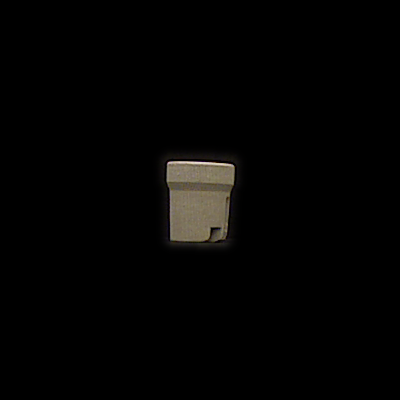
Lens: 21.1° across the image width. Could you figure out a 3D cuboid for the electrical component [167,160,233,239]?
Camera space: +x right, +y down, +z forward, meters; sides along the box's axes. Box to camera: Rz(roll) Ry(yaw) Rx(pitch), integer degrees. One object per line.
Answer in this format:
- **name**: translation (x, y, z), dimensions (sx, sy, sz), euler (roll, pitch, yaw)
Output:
- **electrical component**: translation (0.000, 0.000, 0.648), dimensions (0.040, 0.046, 0.040), euler (1, 1, 0)
